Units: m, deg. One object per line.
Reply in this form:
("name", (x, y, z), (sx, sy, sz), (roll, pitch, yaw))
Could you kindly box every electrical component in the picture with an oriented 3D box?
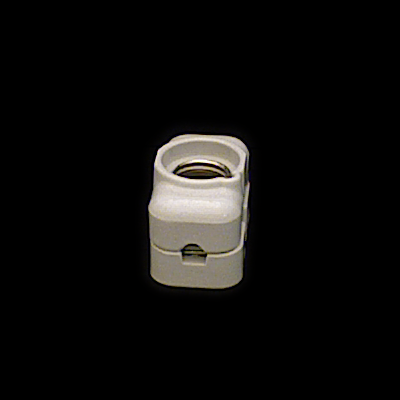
("electrical component", (0.000, 0.000, 0.641), (0.053, 0.060, 0.094), (3, 32, 4))
